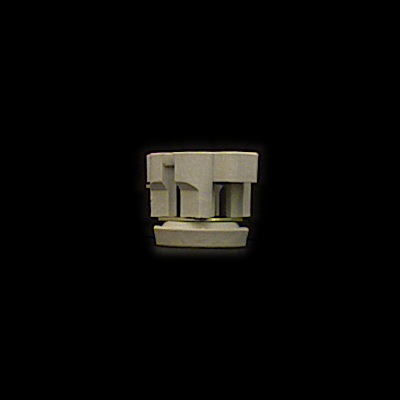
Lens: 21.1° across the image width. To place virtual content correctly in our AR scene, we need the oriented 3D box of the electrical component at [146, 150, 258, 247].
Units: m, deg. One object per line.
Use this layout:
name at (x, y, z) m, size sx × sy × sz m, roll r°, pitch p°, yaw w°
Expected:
electrical component at (0.000, 0.000, 0.656) m, size 0.058 × 0.057 × 0.077 m, roll -1°, pitch 1°, yaw -45°
